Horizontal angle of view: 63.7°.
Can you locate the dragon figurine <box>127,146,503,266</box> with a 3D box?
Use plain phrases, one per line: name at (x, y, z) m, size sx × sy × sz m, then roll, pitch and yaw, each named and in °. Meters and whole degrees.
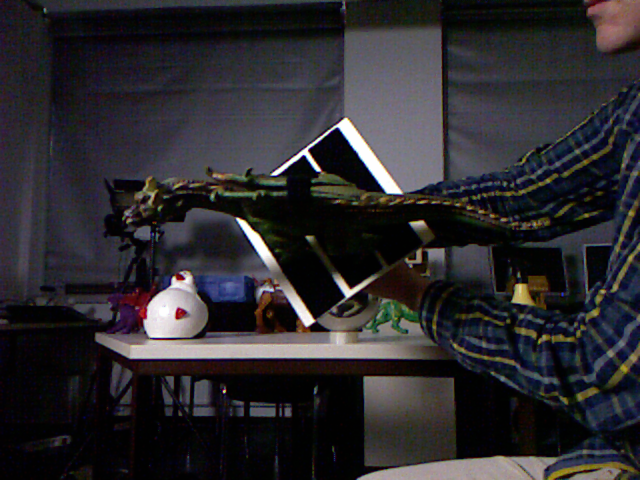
dragon figurine at (-0.008, -0.043, 0.559) m, size 0.412 × 0.124 × 0.242 m, roll -4°, pitch -9°, yaw 13°
